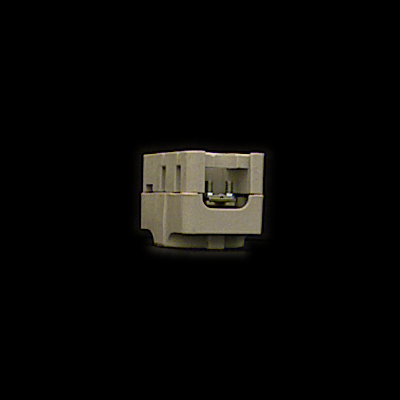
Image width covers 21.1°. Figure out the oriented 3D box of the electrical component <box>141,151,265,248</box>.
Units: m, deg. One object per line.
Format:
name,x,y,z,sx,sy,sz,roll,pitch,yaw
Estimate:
electrical component,0.000,0.000,0.657,0.050,0.056,0.089,1,1,-21
